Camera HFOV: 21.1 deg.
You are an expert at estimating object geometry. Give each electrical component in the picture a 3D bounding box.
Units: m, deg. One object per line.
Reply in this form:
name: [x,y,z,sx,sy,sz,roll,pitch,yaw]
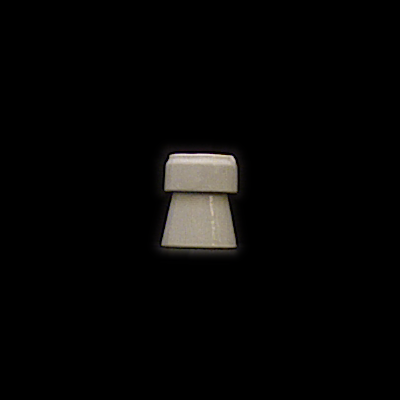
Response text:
electrical component: [0.000,0.000,0.651,0.045,0.055,0.045,2,1,0]
